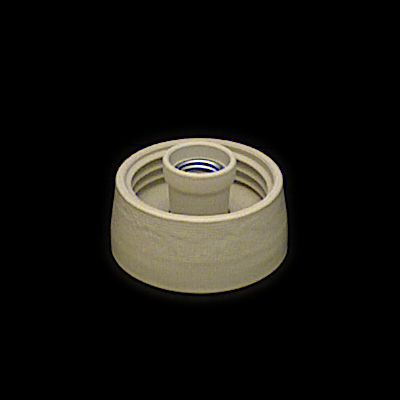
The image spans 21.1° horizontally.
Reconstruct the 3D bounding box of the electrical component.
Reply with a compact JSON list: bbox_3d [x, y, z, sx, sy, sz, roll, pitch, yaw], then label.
[{"bbox_3d":[0.000,0.000,0.640,0.108,0.061,0.106,1,32,0],"label":"electrical component"}]
